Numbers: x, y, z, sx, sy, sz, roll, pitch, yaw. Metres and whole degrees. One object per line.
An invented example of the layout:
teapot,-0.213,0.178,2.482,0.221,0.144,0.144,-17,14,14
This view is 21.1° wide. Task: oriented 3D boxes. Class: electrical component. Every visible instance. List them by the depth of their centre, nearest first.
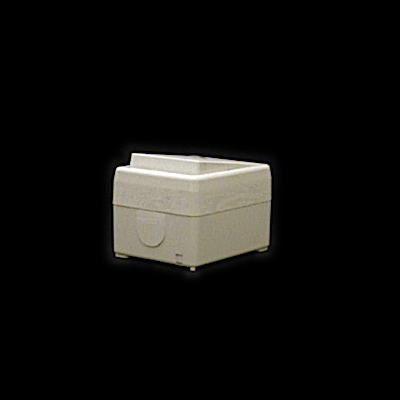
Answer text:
electrical component,0.000,0.000,0.646,0.061,0.061,0.096,9,13,35
